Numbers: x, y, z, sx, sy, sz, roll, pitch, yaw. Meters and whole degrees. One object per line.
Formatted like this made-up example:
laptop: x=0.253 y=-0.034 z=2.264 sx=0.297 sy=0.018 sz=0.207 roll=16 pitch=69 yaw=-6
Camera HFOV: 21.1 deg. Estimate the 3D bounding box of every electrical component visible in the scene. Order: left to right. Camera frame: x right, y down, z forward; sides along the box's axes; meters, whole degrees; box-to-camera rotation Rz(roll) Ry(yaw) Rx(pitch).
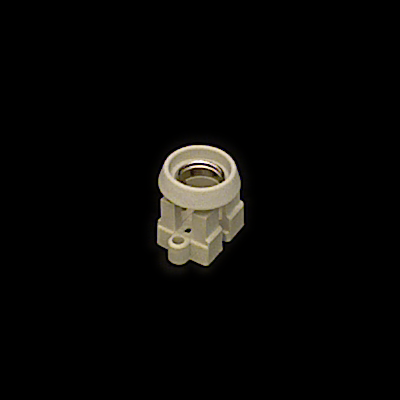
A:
electrical component: x=0.000 y=0.000 z=0.641 sx=0.048 sy=0.056 sz=0.066 roll=24 pitch=47 yaw=21
